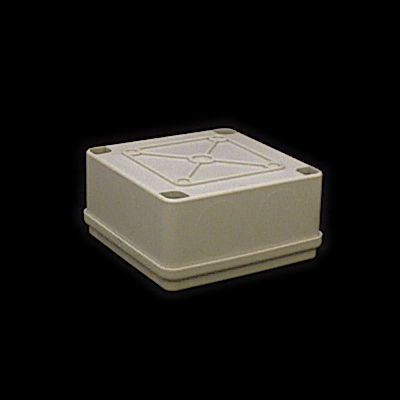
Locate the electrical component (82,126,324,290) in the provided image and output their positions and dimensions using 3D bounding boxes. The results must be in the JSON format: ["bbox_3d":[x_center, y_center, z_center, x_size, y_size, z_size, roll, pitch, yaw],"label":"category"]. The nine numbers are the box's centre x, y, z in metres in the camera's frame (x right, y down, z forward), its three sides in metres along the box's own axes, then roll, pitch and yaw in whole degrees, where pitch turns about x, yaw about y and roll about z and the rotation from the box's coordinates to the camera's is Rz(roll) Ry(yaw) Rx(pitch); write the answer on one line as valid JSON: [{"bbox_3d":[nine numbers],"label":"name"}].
[{"bbox_3d":[0.000,0.000,0.640,0.108,0.057,0.107,-11,24,-30],"label":"electrical component"}]
